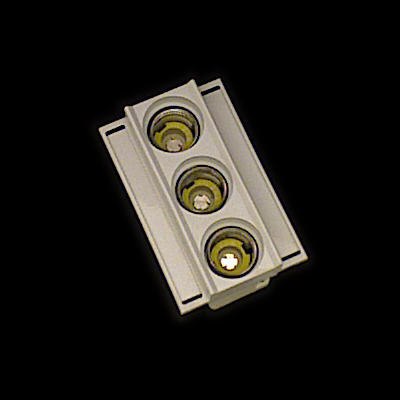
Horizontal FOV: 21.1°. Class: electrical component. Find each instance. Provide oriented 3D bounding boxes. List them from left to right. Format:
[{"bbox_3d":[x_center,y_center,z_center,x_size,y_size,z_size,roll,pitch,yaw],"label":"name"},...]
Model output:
[{"bbox_3d":[0.000,0.000,0.637,0.079,0.121,0.063,-23,-15,-7],"label":"electrical component"}]
